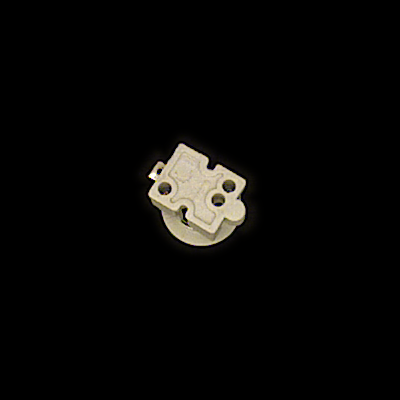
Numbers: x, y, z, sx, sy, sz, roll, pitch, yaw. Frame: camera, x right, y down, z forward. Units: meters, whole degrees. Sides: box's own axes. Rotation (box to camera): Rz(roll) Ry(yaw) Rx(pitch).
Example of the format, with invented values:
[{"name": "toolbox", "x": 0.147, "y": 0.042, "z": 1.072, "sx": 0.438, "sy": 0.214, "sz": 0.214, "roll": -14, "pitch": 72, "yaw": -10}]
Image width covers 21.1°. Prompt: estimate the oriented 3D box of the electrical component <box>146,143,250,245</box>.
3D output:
[{"name": "electrical component", "x": 0.000, "y": 0.000, "z": 0.638, "sx": 0.066, "sy": 0.048, "sz": 0.055, "roll": 31, "pitch": -12, "yaw": 9}]
